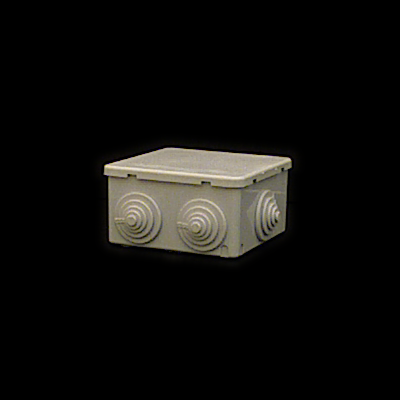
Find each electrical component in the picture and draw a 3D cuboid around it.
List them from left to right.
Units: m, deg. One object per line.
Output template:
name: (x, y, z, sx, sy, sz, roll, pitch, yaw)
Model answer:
electrical component: (0.000, 0.000, 0.651, 0.099, 0.049, 0.100, 6, 12, 23)
